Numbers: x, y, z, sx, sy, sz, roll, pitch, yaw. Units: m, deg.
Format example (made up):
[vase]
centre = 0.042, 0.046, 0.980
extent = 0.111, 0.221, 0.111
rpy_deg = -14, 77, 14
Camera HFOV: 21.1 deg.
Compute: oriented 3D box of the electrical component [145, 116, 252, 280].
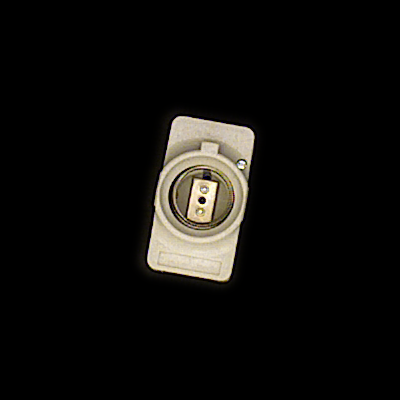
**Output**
[electrical component]
centre = 0.000, 0.000, 0.637
extent = 0.050, 0.090, 0.055
rpy_deg = 10, -5, 2
